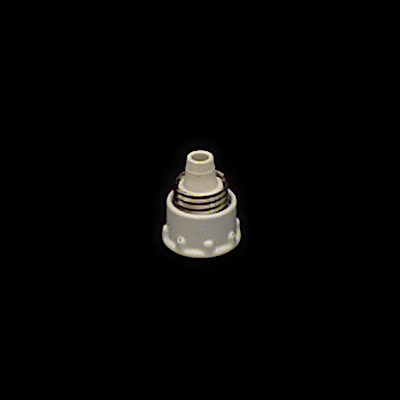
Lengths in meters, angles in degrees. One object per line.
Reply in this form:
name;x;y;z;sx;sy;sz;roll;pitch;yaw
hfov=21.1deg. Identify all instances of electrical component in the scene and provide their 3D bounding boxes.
electrical component;0.000;0.000;0.639;0.048;0.063;0.047;0;32;1
